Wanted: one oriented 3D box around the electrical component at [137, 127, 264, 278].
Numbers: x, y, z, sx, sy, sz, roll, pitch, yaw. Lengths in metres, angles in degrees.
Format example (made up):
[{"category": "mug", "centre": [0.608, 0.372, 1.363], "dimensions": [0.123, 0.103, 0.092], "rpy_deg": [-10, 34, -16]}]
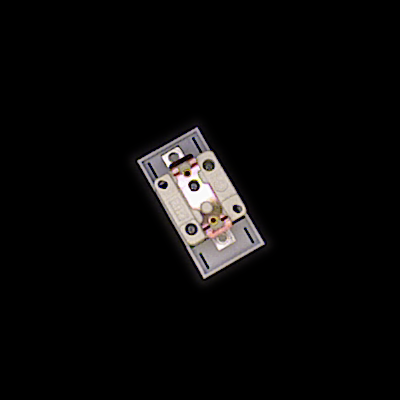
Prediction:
[{"category": "electrical component", "centre": [0.000, 0.000, 0.626], "dimensions": [0.042, 0.081, 0.063], "rpy_deg": [-30, -6, -3]}]
